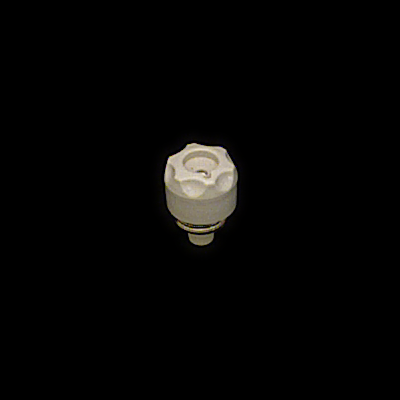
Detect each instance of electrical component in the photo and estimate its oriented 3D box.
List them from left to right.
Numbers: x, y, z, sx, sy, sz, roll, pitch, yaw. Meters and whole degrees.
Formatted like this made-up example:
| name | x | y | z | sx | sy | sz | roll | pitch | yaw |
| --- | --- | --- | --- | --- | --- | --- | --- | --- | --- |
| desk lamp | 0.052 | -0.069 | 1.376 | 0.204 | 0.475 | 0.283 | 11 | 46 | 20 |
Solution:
| name | x | y | z | sx | sy | sz | roll | pitch | yaw |
| --- | --- | --- | --- | --- | --- | --- | --- | --- | --- |
| electrical component | 0.000 | 0.000 | 0.638 | 0.043 | 0.062 | 0.043 | 0 | 42 | 1 |
